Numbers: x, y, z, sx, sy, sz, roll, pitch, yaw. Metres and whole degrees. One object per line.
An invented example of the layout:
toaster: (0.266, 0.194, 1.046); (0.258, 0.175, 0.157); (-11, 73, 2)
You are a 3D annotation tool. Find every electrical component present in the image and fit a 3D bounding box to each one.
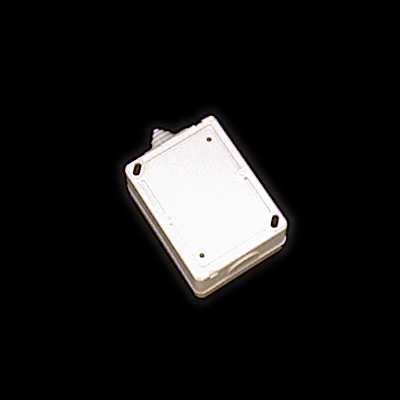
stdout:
electrical component: (0.000, 0.000, 0.629); (0.062, 0.096, 0.060); (-32, -15, -9)
